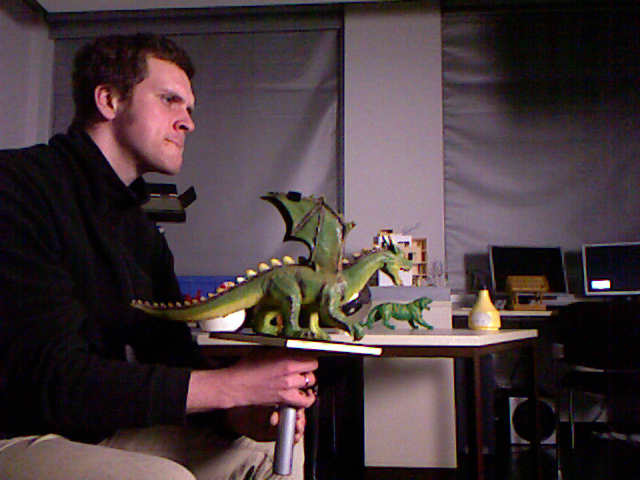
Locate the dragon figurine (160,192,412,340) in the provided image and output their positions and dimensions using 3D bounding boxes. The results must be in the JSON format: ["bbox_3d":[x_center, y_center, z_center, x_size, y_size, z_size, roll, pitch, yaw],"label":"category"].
[{"bbox_3d":[-0.042,0.040,0.857,0.410,0.244,0.122,8,-6,-9],"label":"dragon figurine"}]
